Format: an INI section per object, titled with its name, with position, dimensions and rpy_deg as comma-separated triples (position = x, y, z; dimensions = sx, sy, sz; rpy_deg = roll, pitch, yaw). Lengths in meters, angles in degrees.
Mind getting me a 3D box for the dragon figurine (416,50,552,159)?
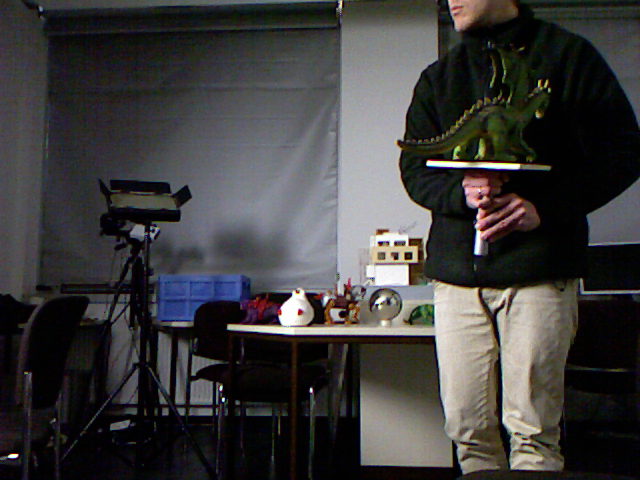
[dragon figurine]
position = 0.384, -0.296, 1.136
dimensions = 0.413, 0.241, 0.123
rpy_deg = -4, 17, -36
